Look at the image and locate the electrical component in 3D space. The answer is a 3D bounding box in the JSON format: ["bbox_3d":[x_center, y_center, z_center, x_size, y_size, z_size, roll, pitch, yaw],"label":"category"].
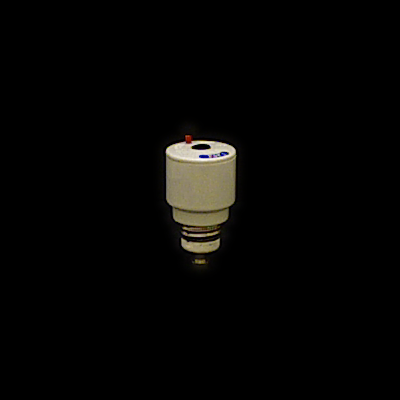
[{"bbox_3d":[0.000,0.000,0.638,0.040,0.079,0.039,1,21,0],"label":"electrical component"}]
